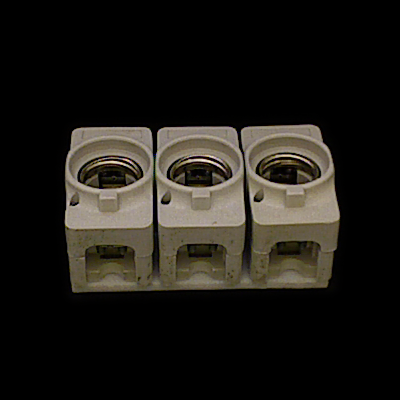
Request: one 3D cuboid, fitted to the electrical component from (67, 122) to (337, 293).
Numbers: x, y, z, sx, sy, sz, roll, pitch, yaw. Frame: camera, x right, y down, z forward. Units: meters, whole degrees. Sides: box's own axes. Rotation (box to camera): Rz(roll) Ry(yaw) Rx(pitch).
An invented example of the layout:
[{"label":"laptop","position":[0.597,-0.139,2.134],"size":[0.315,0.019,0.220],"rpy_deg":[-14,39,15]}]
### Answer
[{"label":"electrical component","position":[0.000,0.000,0.635],"size":[0.150,0.063,0.088],"rpy_deg":[-2,42,-2]}]
